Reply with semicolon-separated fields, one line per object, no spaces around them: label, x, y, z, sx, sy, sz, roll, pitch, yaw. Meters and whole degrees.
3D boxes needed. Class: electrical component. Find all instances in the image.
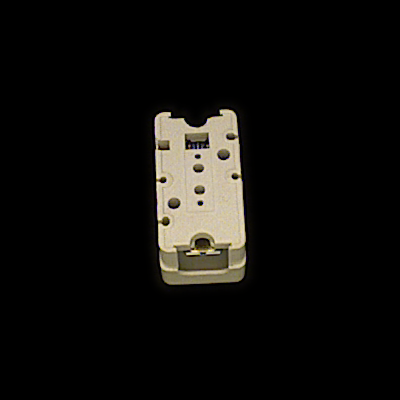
electrical component;0.000;0.000;0.636;0.050;0.089;0.055;-3;-27;-1
